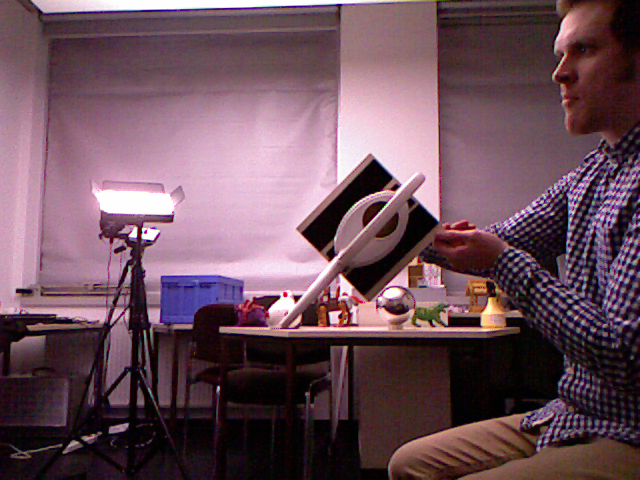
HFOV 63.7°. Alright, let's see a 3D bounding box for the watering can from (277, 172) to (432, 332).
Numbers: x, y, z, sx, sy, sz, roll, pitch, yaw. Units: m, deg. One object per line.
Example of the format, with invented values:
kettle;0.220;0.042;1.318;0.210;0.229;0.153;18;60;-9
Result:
watering can;0.065;0.016;0.900;0.105;0.348;0.225;45;5;8
